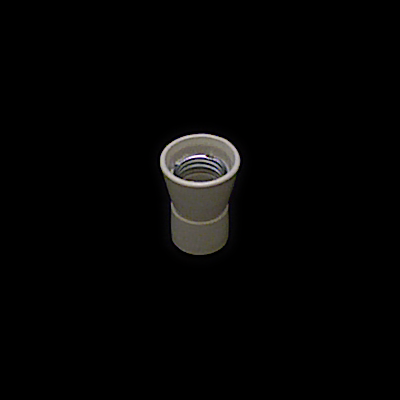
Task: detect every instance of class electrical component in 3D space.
[{"bbox_3d":[0.000,0.000,0.627,0.044,0.066,0.044,0,43,0],"label":"electrical component"}]
